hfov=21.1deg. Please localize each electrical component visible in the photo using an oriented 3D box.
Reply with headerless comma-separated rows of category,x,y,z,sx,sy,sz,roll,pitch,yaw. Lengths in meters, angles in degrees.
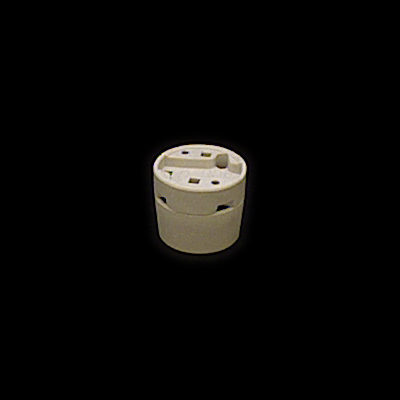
electrical component,0.000,0.000,0.639,0.055,0.047,0.055,1,32,0
